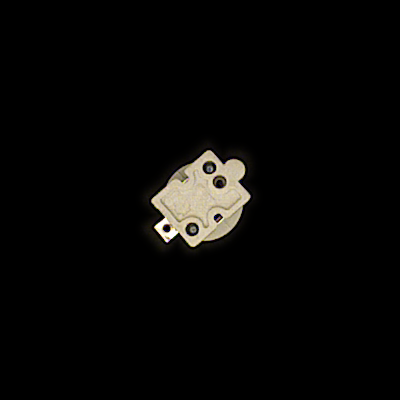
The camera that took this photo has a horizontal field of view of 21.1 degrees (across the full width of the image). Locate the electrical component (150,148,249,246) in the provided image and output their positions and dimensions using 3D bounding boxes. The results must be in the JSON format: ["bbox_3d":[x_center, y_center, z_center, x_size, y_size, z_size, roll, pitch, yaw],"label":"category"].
[{"bbox_3d":[0.000,0.000,0.639,0.066,0.048,0.055,-41,-3,-2],"label":"electrical component"}]
